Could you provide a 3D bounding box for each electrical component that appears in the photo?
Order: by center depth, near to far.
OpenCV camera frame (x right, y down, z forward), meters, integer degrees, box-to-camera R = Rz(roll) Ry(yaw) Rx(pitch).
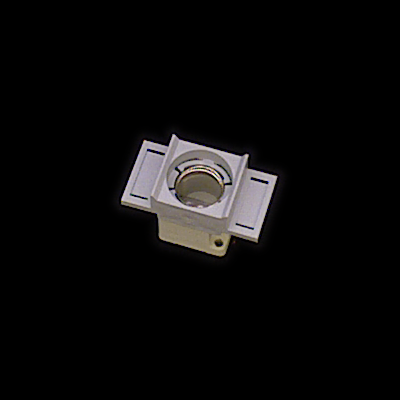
[{"bbox_3d":[0.000,0.000,0.624,0.081,0.042,0.063,16,-25,7],"label":"electrical component"}]
